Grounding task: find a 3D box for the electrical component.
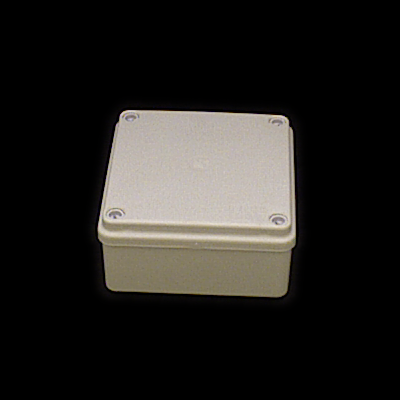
[{"bbox_3d":[0.000,0.000,0.633,0.109,0.057,0.107,2,41,1],"label":"electrical component"}]
